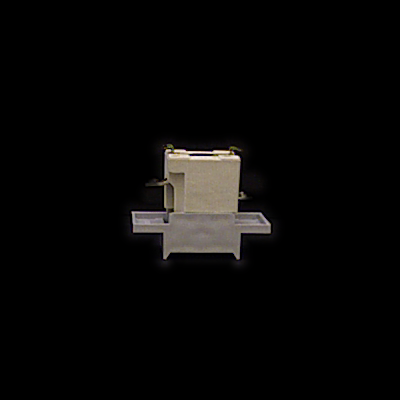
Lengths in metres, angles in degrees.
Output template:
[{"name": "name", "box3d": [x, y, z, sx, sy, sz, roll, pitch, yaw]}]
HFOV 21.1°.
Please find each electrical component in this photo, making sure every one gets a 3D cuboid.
[{"name": "electrical component", "box3d": [0.000, 0.000, 0.644, 0.081, 0.064, 0.042, 0, 11, -6]}]
